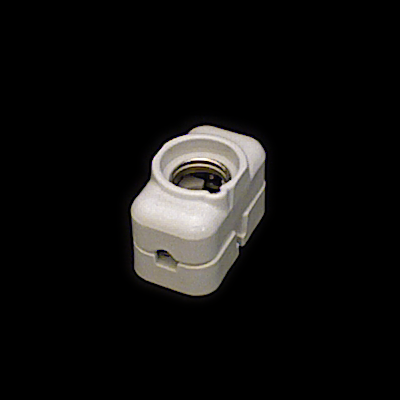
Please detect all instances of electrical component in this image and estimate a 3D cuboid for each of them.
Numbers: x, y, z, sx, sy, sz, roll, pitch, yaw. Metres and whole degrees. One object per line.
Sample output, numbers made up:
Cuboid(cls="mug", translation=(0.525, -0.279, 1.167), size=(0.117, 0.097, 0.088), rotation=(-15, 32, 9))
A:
Cuboid(cls="electrical component", translation=(0.000, 0.000, 0.637), size=(0.053, 0.060, 0.095), rotation=(17, 45, 18))
